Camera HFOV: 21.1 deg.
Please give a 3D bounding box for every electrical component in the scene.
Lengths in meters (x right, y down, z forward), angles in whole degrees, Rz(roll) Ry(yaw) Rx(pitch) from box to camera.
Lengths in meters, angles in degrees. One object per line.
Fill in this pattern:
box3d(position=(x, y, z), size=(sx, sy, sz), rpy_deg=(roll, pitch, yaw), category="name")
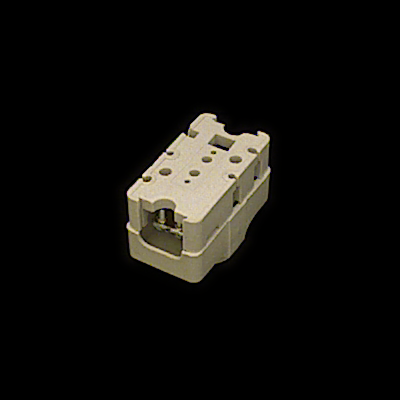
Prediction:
box3d(position=(0.000, 0.000, 0.639), size=(0.050, 0.056, 0.089), rpy_deg=(21, 46, 22), category="electrical component")
